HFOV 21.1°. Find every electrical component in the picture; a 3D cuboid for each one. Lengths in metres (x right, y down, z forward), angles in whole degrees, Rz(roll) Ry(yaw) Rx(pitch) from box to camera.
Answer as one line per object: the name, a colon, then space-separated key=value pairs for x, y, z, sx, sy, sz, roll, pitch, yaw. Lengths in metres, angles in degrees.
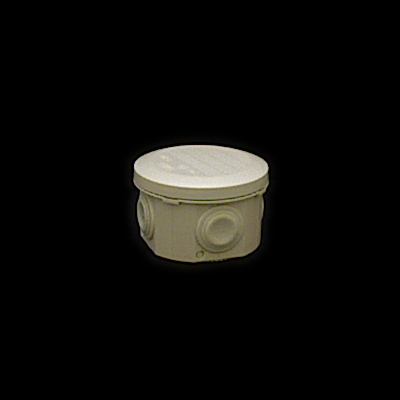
electrical component: x=0.000 y=0.000 z=0.642 sx=0.080 sy=0.051 sz=0.079 roll=1 pitch=21 yaw=0
